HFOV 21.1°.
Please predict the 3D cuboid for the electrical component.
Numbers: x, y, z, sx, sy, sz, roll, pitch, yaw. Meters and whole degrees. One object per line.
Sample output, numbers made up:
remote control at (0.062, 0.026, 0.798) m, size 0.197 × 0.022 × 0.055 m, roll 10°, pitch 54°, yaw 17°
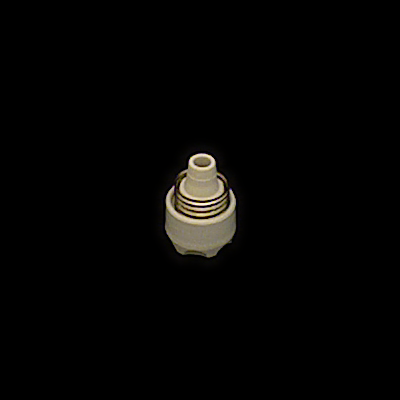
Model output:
electrical component at (0.000, 0.000, 0.638) m, size 0.043 × 0.062 × 0.043 m, roll 1°, pitch 42°, yaw -1°
